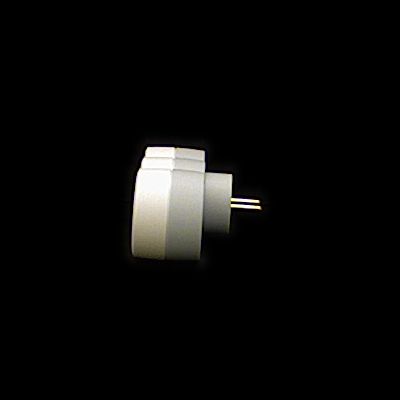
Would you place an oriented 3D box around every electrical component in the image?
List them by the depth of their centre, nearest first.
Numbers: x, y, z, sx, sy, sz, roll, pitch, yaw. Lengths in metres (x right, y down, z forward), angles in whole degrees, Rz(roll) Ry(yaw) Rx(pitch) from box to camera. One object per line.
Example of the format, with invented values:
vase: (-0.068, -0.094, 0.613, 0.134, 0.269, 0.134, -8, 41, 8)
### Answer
electrical component: (0.000, 0.000, 0.650, 0.074, 0.052, 0.137, 3, 11, 0)
